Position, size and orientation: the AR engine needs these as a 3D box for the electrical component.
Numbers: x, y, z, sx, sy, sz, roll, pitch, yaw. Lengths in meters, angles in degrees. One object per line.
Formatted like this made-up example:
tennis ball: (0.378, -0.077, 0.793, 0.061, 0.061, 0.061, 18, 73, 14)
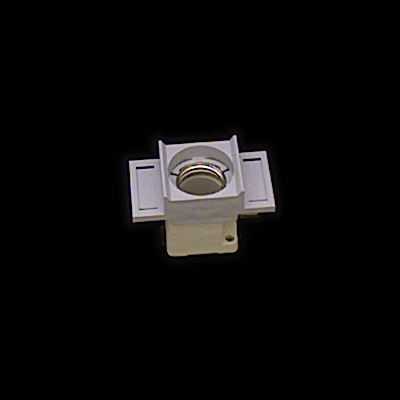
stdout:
electrical component: (0.000, 0.000, 0.627, 0.081, 0.042, 0.064, -4, -39, -3)
